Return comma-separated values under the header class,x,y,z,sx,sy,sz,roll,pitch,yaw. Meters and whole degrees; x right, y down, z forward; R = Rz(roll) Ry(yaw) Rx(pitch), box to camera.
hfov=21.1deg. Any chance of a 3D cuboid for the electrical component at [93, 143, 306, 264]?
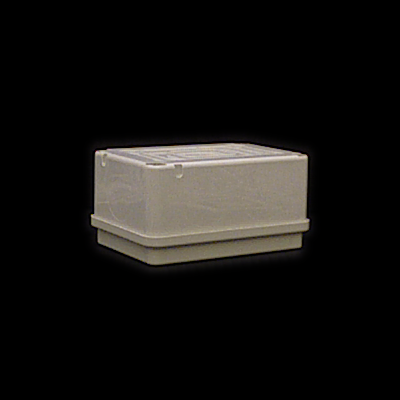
class,x,y,z,sx,sy,sz,roll,pitch,yaw
electrical component,0.000,0.000,0.645,0.113,0.057,0.077,-5,12,-32
